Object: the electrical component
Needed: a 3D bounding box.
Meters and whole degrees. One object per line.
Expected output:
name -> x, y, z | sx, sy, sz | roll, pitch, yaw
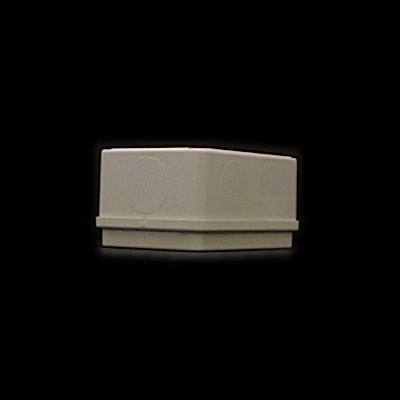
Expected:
electrical component -> 0.000, 0.000, 0.649 | 0.078, 0.057, 0.113 | 2, 1, 35
